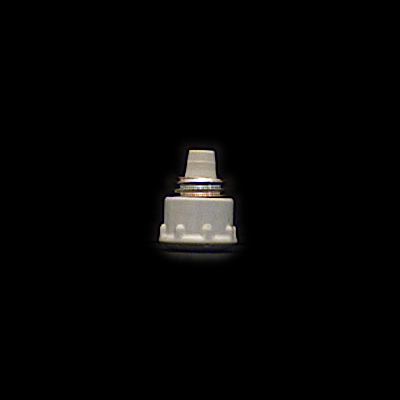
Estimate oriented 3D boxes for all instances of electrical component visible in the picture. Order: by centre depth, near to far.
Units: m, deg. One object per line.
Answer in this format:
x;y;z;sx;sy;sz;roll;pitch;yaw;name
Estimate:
0.000;0.000;0.657;0.048;0.062;0.048;2;2;0;electrical component
